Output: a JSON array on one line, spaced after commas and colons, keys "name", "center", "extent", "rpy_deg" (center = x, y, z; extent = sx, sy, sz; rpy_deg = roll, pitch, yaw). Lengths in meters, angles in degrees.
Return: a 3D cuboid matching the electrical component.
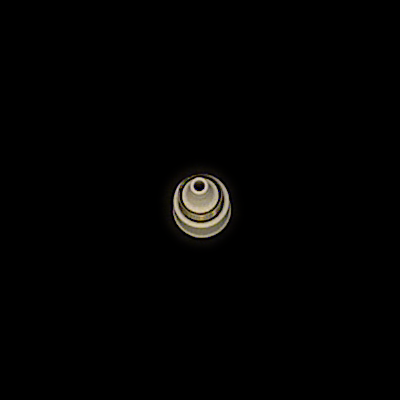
[{"name": "electrical component", "center": [0.000, 0.000, 0.636], "extent": [0.035, 0.035, 0.061], "rpy_deg": [0, -17, 2]}]
